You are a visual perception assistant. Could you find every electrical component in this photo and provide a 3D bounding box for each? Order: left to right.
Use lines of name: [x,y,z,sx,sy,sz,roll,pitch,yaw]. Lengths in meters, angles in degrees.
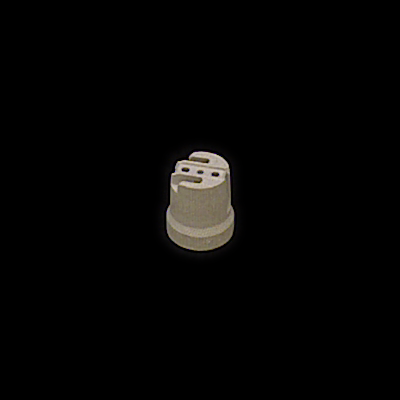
electrical component: [0.000,0.000,0.636,0.040,0.046,0.040,1,42,0]
